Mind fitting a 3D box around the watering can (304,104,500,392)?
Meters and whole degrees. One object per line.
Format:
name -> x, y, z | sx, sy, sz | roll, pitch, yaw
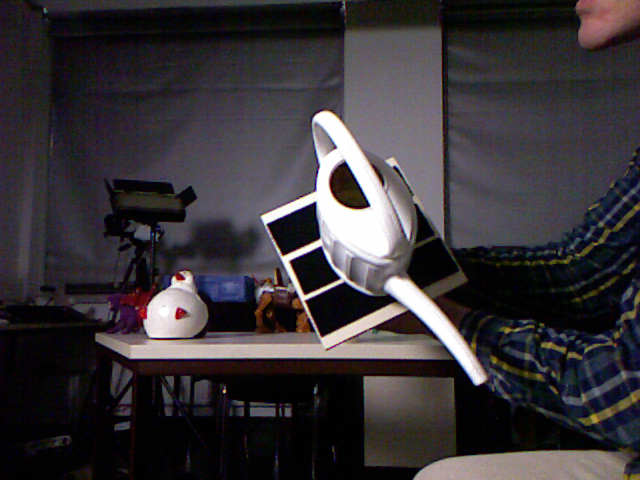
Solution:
watering can -> 0.066, 0.011, 0.582 | 0.105, 0.355, 0.223 | -25, -18, -8
